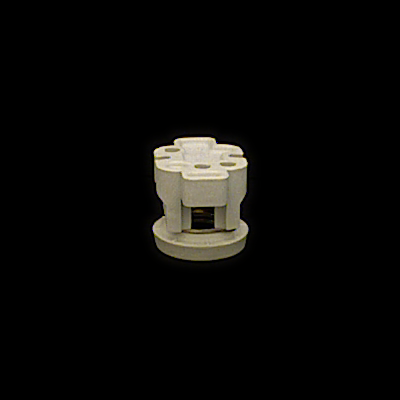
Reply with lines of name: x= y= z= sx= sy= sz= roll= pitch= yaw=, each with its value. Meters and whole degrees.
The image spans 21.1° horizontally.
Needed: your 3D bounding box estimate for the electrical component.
electrical component: x=0.000 y=0.000 z=0.647 sx=0.058 sy=0.057 sz=0.077 roll=-2 pitch=21 yaw=-7
